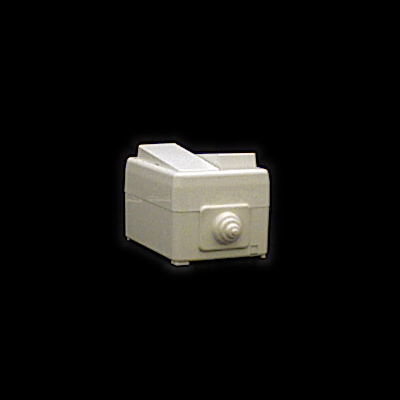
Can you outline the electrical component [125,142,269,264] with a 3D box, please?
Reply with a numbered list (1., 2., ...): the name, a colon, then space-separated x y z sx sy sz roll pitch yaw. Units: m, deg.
1. electrical component: 0.000 0.000 0.642 0.062 0.061 0.095 -4 11 -25
